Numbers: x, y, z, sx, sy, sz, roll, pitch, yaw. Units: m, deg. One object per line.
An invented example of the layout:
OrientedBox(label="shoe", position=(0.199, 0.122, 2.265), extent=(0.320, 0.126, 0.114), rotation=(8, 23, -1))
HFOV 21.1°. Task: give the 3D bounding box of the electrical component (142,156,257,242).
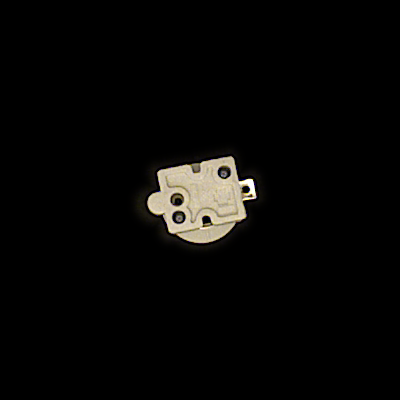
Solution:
OrientedBox(label="electrical component", position=(0.000, 0.000, 0.639), extent=(0.066, 0.048, 0.055), rotation=(-11, -7, -1))
